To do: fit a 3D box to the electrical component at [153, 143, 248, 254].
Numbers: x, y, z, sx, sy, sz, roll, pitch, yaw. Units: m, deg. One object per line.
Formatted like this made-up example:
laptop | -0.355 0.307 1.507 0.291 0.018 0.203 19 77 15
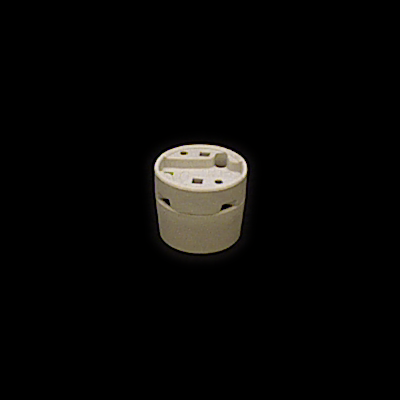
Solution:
electrical component | 0.000 0.000 0.639 0.055 0.047 0.055 1 32 0
